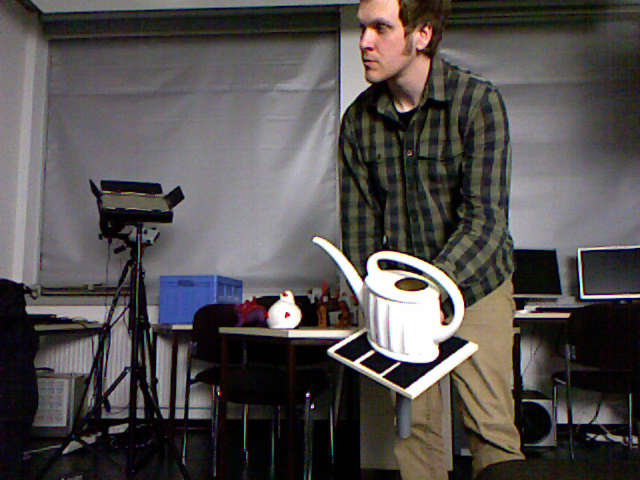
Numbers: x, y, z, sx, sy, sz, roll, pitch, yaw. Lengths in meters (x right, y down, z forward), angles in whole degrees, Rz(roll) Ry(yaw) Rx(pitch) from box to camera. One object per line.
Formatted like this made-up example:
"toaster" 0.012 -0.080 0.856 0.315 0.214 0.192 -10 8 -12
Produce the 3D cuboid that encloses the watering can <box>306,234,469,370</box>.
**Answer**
"watering can" 0.117 0.112 0.977 0.350 0.221 0.105 18 31 37
